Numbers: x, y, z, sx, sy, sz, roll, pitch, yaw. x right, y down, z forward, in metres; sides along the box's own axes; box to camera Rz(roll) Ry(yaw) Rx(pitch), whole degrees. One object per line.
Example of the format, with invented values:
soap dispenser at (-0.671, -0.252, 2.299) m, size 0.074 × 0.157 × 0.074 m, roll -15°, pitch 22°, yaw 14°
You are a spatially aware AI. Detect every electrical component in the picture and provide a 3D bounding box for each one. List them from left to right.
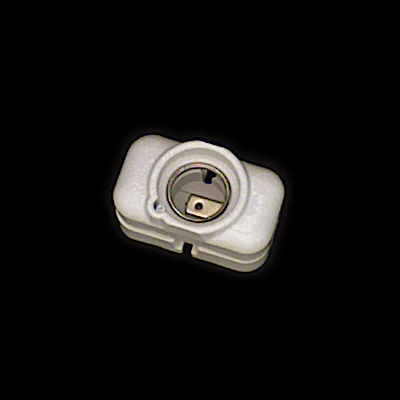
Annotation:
electrical component at (0.000, 0.000, 0.633) m, size 0.095 × 0.054 × 0.059 m, roll 16°, pitch -15°, yaw 5°
